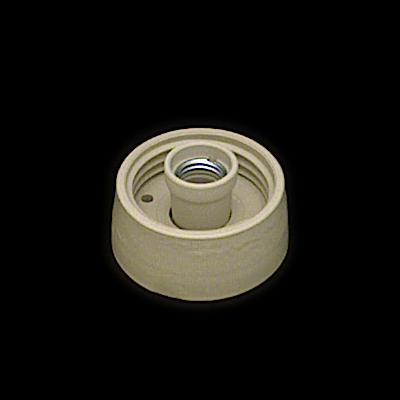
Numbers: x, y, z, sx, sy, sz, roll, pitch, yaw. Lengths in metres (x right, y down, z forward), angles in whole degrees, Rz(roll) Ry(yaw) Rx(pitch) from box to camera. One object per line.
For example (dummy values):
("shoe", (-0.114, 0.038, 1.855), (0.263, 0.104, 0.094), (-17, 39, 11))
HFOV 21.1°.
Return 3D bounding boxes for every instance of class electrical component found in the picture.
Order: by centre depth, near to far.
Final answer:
("electrical component", (0.000, 0.000, 0.636), (0.108, 0.061, 0.107), (1, 42, 0))
